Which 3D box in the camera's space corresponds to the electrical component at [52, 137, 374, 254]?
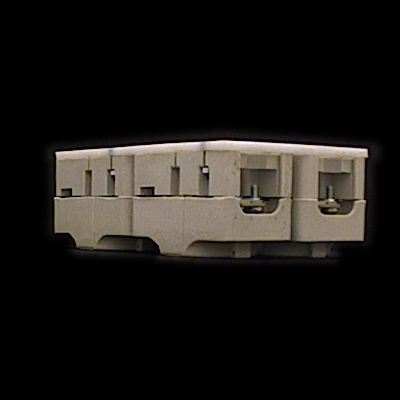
[{"bbox_3d":[0.000,0.000,0.649,0.106,0.060,0.186,2,-1,-35],"label":"electrical component"}]
